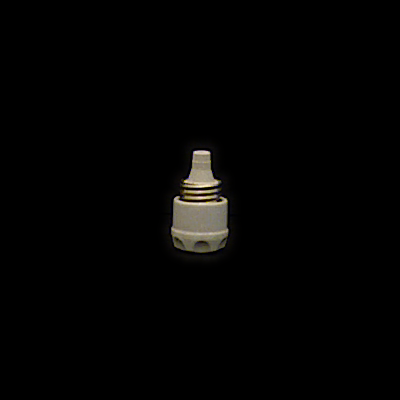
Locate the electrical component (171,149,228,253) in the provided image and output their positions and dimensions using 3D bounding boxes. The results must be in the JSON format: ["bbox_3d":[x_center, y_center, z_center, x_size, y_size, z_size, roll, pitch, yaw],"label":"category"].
[{"bbox_3d":[0.000,0.000,0.658,0.035,0.062,0.035,1,14,0],"label":"electrical component"}]
